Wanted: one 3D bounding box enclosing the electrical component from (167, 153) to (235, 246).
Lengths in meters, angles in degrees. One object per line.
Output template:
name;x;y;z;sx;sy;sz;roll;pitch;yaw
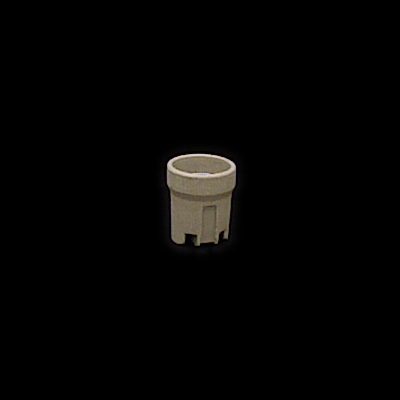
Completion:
electrical component;0.000;0.000;0.637;0.040;0.047;0.039;1;21;0
